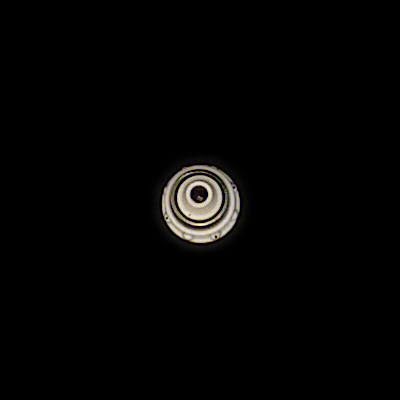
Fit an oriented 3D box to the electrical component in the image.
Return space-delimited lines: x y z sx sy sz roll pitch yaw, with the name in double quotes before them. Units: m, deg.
"electrical component" 0.000 0.000 0.635 0.048 0.048 0.061 0 -6 0
